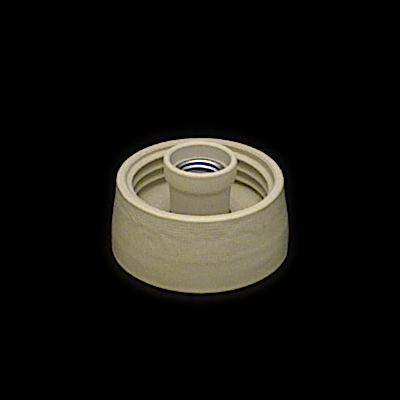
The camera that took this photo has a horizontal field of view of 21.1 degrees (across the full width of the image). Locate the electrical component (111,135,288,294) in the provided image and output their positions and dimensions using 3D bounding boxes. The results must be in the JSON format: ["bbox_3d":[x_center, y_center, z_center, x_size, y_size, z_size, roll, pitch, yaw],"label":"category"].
[{"bbox_3d":[0.000,0.000,0.640,0.108,0.061,0.106,1,32,0],"label":"electrical component"}]
